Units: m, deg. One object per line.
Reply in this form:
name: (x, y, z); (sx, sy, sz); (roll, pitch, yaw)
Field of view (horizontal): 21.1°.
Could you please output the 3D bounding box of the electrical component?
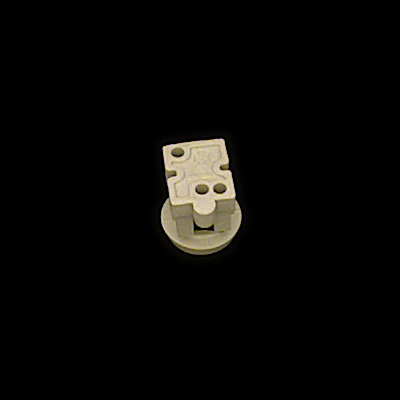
electrical component: (0.000, 0.000, 0.638); (0.048, 0.066, 0.055); (-7, -37, -4)
